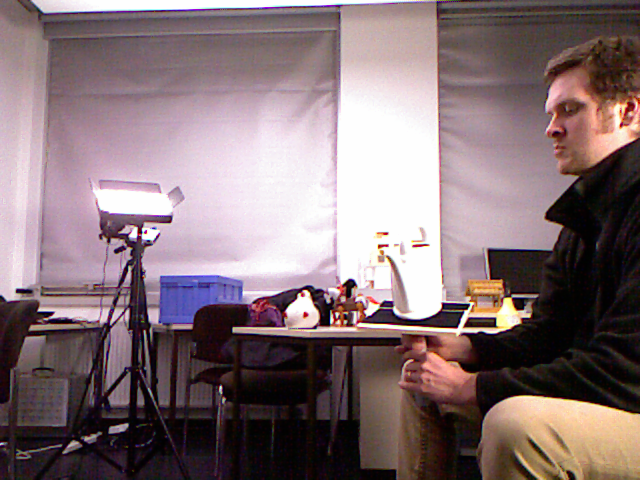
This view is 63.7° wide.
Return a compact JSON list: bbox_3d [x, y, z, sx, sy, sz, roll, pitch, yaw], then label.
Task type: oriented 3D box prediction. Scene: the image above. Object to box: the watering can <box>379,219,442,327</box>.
[{"bbox_3d":[0.187,0.076,1.069,0.104,0.223,0.351,1,10,26],"label":"watering can"}]
